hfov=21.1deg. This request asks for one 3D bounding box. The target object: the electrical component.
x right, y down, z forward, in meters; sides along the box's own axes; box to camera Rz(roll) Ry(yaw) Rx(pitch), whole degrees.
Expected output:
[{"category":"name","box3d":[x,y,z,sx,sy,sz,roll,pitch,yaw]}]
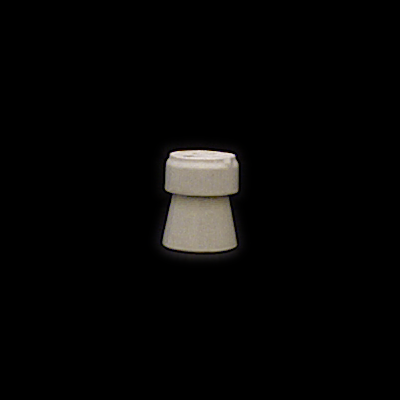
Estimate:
[{"category":"electrical component","box3d":[0.000,0.000,0.646,0.045,0.055,0.044,2,11,0]}]
